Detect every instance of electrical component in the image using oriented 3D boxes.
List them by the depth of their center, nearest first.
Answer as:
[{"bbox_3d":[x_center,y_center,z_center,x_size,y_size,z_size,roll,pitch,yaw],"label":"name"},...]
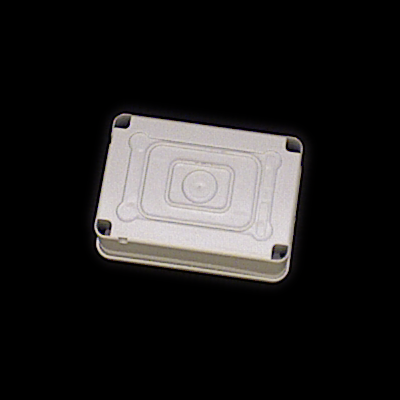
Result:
[{"bbox_3d":[0.000,0.000,0.628,0.113,0.078,0.057,8,-17,2],"label":"electrical component"}]
